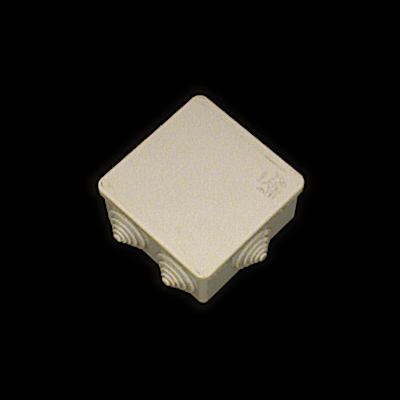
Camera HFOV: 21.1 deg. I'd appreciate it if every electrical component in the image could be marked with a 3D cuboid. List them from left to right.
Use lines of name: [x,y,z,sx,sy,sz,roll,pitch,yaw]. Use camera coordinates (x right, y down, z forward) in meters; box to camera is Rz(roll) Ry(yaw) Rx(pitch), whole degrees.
electrical component: [0.000,0.000,0.640,0.099,0.100,0.048,41,-20,18]
